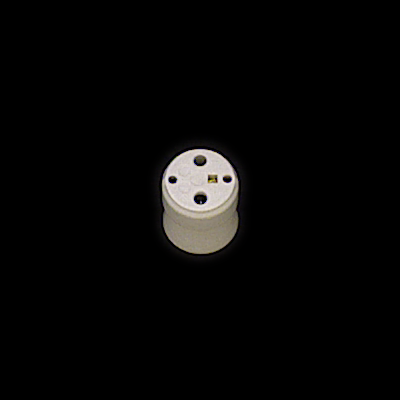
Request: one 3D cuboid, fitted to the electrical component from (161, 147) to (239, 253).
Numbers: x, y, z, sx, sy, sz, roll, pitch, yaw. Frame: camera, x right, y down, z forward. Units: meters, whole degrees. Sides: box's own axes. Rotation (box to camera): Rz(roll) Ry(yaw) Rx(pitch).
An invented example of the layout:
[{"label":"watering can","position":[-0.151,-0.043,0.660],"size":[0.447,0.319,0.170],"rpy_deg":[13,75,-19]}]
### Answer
[{"label":"electrical component","position":[0.000,0.000,0.628],"size":[0.045,0.045,0.055],"rpy_deg":[0,-27,0]}]
